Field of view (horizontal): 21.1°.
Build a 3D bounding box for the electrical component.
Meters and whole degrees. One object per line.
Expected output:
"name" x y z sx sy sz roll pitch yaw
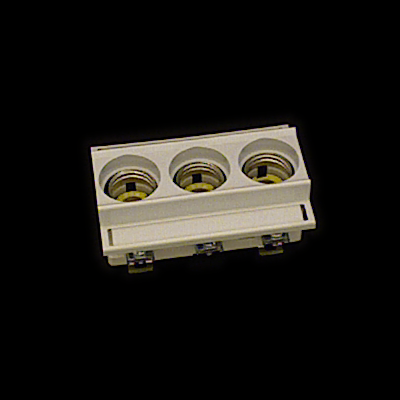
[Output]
"electrical component" 0.000 0.000 0.640 0.121 0.078 0.063 -7 -38 -5
